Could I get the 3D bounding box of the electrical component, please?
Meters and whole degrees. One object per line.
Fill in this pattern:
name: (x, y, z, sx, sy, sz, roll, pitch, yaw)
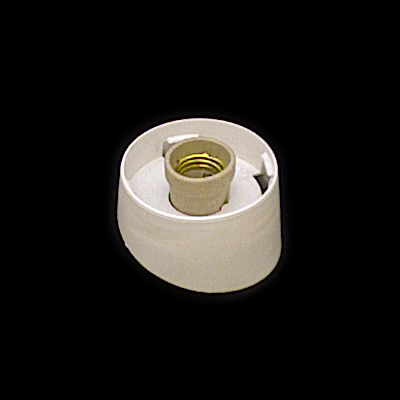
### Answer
electrical component: (0.000, 0.000, 0.629, 0.099, 0.064, 0.098, 1, 42, -1)
